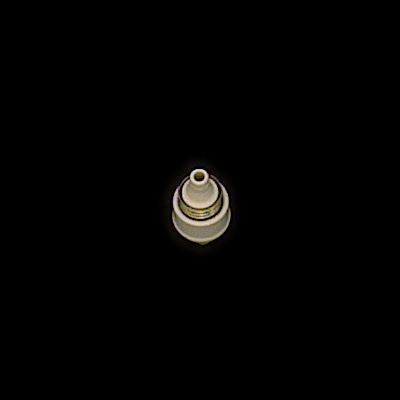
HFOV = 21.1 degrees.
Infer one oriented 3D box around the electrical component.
[{"bbox_3d":[0.000,0.000,0.637,0.035,0.035,0.061,0,-28,2],"label":"electrical component"}]
